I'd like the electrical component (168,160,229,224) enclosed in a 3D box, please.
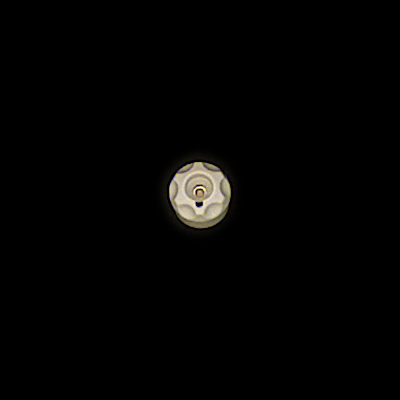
[{"bbox_3d":[0.000,0.000,0.633,0.035,0.035,0.061,0,-16,1],"label":"electrical component"}]
